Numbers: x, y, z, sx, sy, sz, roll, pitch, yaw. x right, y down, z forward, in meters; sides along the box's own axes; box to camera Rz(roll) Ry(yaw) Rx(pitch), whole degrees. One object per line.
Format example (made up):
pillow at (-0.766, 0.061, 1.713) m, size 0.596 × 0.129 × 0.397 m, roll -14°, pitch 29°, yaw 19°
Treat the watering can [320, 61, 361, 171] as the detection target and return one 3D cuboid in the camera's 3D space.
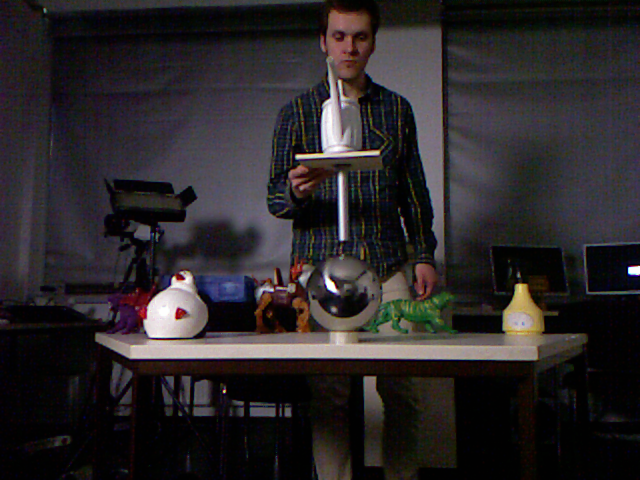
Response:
watering can at (0.047, -0.293, 1.295) m, size 0.104 × 0.226 × 0.347 m, roll -1°, pitch -5°, yaw 10°
